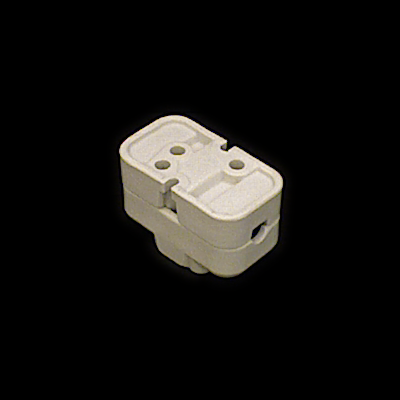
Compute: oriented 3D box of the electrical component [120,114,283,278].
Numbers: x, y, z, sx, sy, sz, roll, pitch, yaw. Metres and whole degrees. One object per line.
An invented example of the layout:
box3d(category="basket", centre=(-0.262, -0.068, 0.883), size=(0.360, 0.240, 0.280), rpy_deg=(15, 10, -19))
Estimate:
box3d(category="electrical component", centre=(0.000, 0.000, 0.636), size=(0.094, 0.060, 0.054), rpy_deg=(33, 52, 29))
